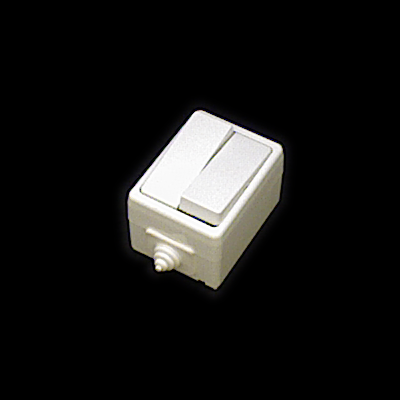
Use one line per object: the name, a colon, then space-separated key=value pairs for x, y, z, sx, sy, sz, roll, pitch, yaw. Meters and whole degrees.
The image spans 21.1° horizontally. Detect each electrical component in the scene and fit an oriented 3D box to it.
electrical component: x=0.000 y=0.000 z=0.627 sx=0.061 sy=0.096 sz=0.061 roll=25 pitch=-34 yaw=18
